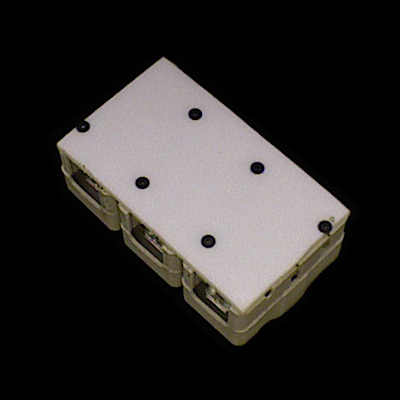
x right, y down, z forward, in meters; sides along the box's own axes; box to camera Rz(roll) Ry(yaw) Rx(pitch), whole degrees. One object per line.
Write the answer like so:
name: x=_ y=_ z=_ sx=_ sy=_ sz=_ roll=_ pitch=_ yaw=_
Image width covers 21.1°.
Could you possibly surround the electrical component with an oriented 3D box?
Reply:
electrical component: x=0.000 y=0.000 z=0.631 sx=0.089 sy=0.149 sz=0.062 roll=-41 pitch=-20 yaw=-19
